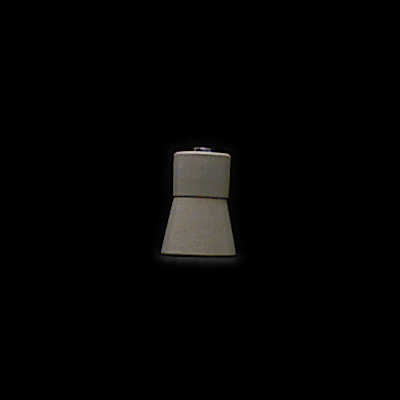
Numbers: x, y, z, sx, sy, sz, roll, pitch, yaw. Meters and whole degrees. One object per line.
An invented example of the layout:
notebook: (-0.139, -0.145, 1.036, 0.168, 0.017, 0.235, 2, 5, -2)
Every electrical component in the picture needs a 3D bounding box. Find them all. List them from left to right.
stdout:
electrical component: (0.000, 0.000, 0.649, 0.044, 0.065, 0.044, 2, 1, 0)
